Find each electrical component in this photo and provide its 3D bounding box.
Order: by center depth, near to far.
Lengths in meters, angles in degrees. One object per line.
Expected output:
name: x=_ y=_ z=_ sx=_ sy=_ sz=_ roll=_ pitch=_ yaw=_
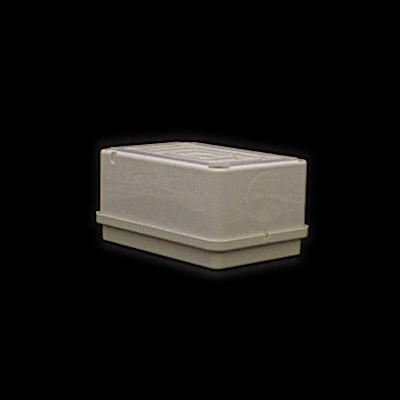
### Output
electrical component: x=0.000 y=0.000 z=0.644 sx=0.078 sy=0.057 sz=0.112 roll=-8 pitch=14 yaw=-42
